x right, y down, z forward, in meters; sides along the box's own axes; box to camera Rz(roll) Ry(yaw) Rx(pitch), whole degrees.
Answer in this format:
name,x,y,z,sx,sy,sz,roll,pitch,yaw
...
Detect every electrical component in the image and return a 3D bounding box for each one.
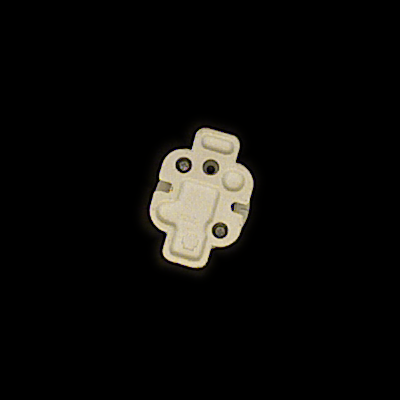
name,x,y,z,sx,sy,sz,roll,pitch,yaw
electrical component,0.000,0.000,0.637,0.058,0.078,0.056,15,-4,1
